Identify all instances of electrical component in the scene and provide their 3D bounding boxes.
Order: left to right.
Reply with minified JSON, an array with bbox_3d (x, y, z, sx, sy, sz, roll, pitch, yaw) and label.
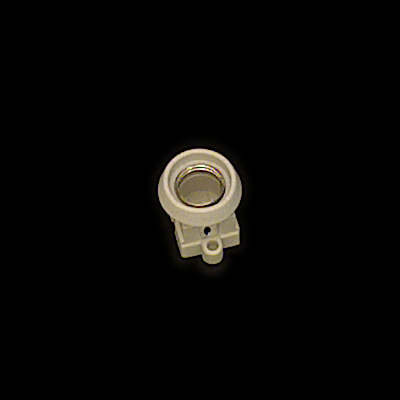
[{"bbox_3d":[0.000,0.000,0.637,0.048,0.066,0.055,-14,-26,-9],"label":"electrical component"}]
